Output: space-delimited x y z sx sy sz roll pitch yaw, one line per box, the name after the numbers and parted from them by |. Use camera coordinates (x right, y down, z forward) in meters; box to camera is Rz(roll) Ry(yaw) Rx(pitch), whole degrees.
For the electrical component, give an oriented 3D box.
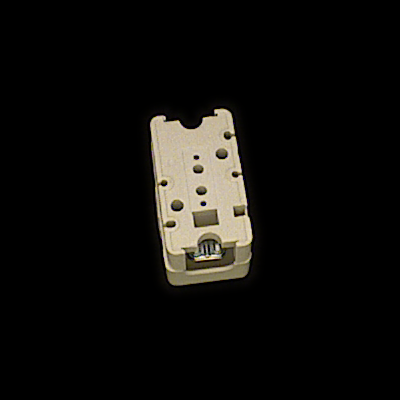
0.000 0.000 0.636 0.050 0.089 0.055 -7 -26 -4 | electrical component
